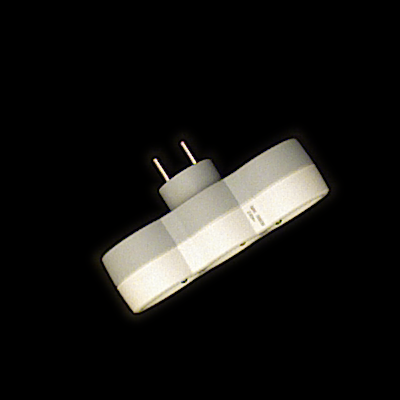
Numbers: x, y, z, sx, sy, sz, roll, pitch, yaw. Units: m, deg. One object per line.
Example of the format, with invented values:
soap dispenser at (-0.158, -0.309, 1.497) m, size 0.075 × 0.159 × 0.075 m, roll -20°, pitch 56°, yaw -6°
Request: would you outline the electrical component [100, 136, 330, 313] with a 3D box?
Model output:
electrical component at (0.000, 0.000, 0.639) m, size 0.138 × 0.074 × 0.052 m, roll -32°, pitch -6°, yaw -3°
